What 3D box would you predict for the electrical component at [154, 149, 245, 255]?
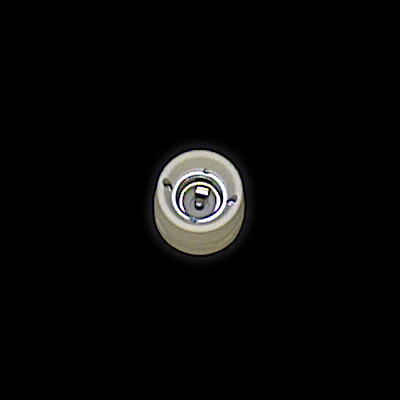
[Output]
[{"bbox_3d":[0.000,0.000,0.633,0.055,0.056,0.047,0,-16,-1],"label":"electrical component"}]
